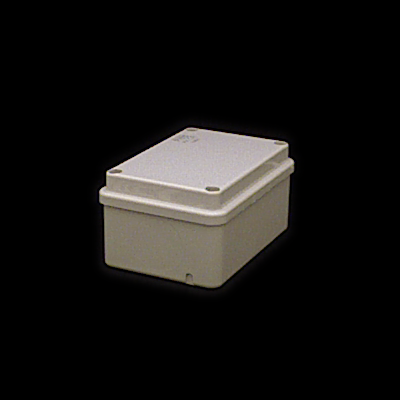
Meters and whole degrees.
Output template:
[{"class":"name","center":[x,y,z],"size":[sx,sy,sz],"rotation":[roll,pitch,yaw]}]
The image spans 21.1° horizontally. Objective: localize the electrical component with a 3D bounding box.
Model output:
[{"class":"electrical component","center":[0.000,0.000,0.640],"size":[0.077,0.058,0.112],"rotation":[11,23,24]}]
